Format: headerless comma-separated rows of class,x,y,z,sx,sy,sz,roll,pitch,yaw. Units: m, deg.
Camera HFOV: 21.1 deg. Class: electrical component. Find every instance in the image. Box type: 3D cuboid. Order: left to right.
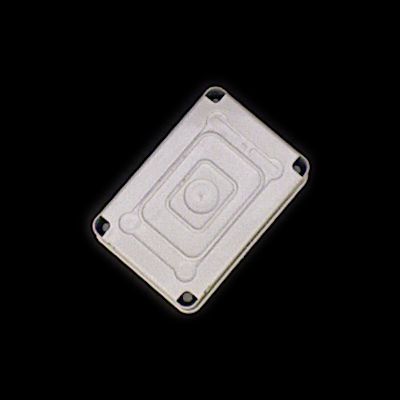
electrical component,0.000,0.000,0.628,0.078,0.113,0.057,40,-5,5
